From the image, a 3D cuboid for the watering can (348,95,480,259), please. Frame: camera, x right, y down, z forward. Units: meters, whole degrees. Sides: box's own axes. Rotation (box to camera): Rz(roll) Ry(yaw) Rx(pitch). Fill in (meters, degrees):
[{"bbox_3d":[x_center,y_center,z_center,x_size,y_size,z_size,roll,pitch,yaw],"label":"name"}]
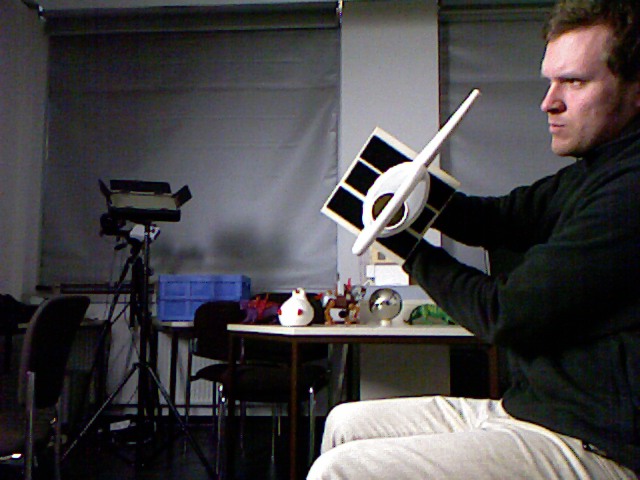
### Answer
[{"bbox_3d":[0.163,-0.113,0.958,0.104,0.348,0.227,37,8,-5],"label":"watering can"}]
